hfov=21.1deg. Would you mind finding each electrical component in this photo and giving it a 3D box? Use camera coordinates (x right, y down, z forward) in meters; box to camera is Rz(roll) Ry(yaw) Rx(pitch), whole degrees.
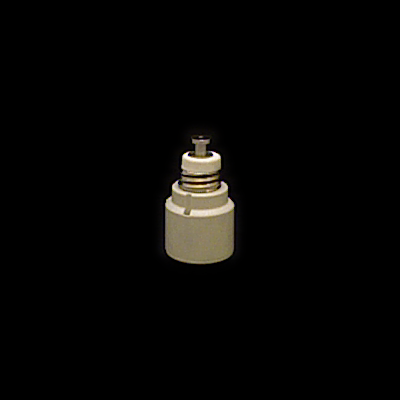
[{"bbox_3d":[0.000,0.000,0.637,0.040,0.079,0.039,1,22,0],"label":"electrical component"}]
